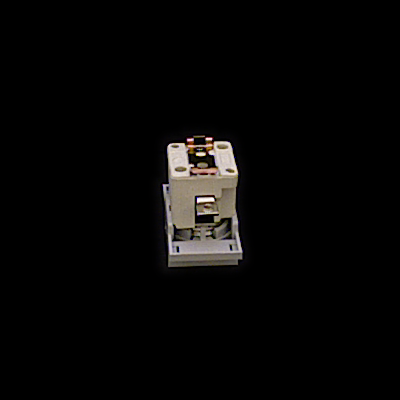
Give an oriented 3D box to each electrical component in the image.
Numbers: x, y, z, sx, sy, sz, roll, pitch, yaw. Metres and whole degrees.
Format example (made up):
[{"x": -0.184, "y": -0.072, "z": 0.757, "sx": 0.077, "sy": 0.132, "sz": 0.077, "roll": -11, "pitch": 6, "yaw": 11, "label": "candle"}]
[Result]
[{"x": 0.000, "y": 0.000, "z": 0.634, "sx": 0.042, "sy": 0.064, "sz": 0.079, "roll": -2, "pitch": 32, "yaw": -5, "label": "electrical component"}]
